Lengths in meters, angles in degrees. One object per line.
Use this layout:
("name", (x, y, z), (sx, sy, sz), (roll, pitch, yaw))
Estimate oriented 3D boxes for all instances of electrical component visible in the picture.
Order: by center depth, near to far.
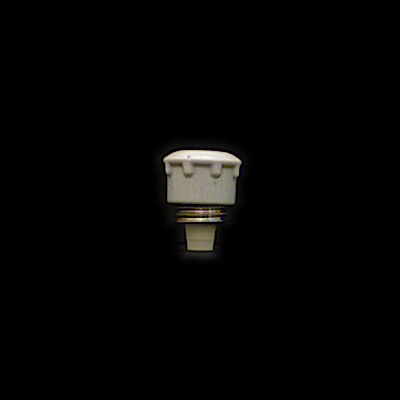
("electrical component", (0.000, 0.000, 0.659), (0.048, 0.062, 0.048), (2, 2, 1))
